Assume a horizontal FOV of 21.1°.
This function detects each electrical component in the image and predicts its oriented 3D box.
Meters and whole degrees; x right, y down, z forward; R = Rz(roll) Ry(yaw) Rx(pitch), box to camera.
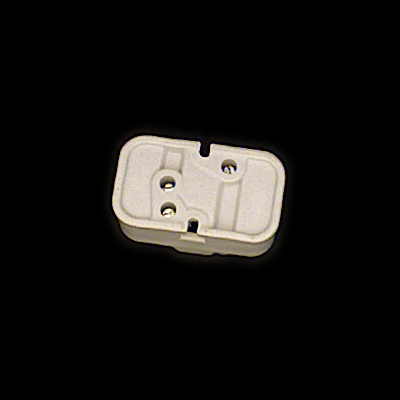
[{"bbox_3d":[0.000,0.000,0.635,0.095,0.054,0.059,8,-16,2],"label":"electrical component"}]
